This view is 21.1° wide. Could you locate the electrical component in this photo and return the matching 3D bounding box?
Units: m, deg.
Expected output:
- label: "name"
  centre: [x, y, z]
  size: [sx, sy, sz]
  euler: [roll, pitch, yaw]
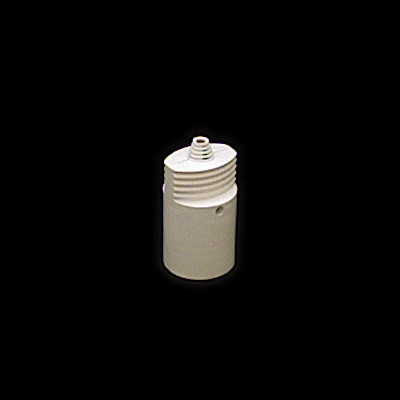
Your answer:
- label: "electrical component"
  centre: [0.000, 0.000, 0.628]
  size: [0.043, 0.082, 0.042]
  euler: [1, 31, 0]
